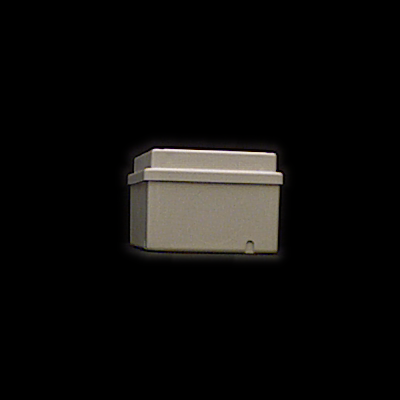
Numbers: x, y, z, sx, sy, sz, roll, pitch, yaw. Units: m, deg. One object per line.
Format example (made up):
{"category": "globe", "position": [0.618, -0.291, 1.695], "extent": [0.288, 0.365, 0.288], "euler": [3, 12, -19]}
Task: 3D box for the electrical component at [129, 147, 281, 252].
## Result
{"category": "electrical component", "position": [0.000, 0.000, 0.649], "extent": [0.078, 0.057, 0.113], "euler": [1, 0, -9]}
